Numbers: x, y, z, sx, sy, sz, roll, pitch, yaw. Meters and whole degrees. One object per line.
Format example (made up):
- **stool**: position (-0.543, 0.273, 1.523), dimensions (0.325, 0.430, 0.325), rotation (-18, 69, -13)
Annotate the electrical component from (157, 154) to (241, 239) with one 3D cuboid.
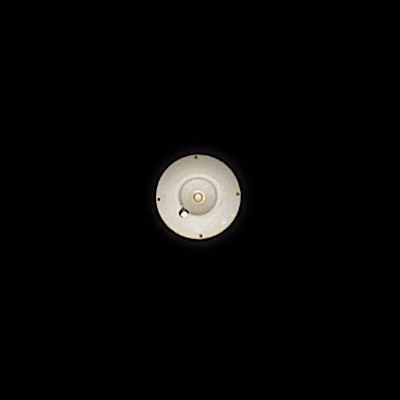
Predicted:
- **electrical component**: position (0.000, 0.000, 0.634), dimensions (0.048, 0.048, 0.061), rotation (0, -5, 1)
